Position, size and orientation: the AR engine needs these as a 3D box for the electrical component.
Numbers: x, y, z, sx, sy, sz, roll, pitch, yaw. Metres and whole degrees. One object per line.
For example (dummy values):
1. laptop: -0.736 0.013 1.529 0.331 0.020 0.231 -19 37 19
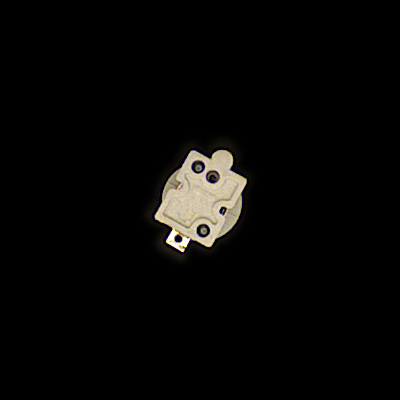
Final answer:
1. electrical component: 0.000 0.000 0.639 0.048 0.066 0.055 29 -4 2
